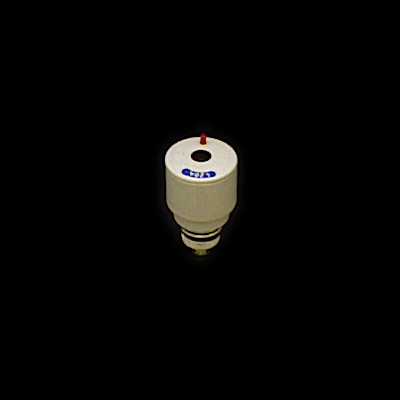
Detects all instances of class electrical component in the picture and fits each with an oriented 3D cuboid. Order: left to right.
[{"bbox_3d":[0.000,0.000,0.626,0.040,0.079,0.039,0,41,0],"label":"electrical component"}]
